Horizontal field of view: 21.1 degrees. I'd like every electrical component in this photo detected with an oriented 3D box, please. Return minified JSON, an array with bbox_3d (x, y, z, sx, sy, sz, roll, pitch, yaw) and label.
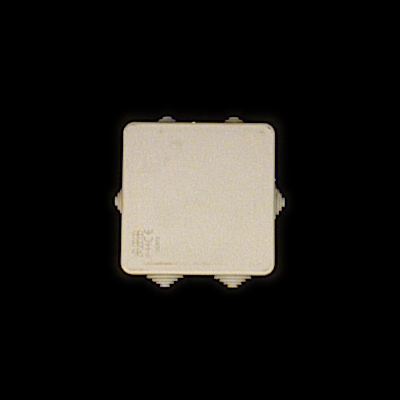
[{"bbox_3d":[0.000,0.000,0.642,0.100,0.100,0.048,1,-6,0],"label":"electrical component"}]
